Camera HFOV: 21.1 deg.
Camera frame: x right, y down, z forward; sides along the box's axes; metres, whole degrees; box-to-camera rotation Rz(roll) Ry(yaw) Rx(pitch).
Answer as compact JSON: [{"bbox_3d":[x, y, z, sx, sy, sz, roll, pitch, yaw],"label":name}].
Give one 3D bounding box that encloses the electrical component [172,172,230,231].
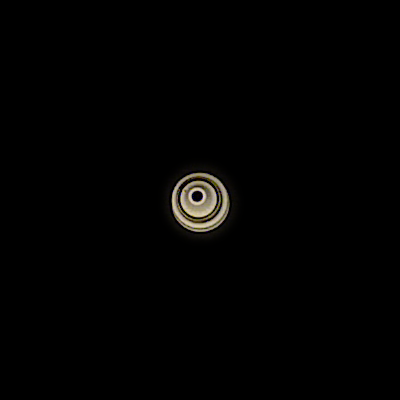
[{"bbox_3d":[0.000,0.000,0.637,0.035,0.035,0.061,0,-5,2],"label":"electrical component"}]
